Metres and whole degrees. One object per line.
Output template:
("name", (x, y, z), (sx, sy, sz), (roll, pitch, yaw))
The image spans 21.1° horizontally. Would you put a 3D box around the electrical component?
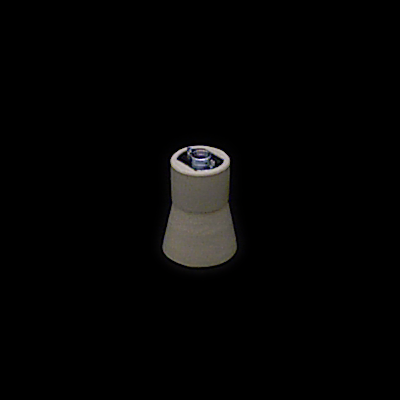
("electrical component", (0.000, 0.000, 0.632), (0.044, 0.066, 0.044), (0, 32, 0))
